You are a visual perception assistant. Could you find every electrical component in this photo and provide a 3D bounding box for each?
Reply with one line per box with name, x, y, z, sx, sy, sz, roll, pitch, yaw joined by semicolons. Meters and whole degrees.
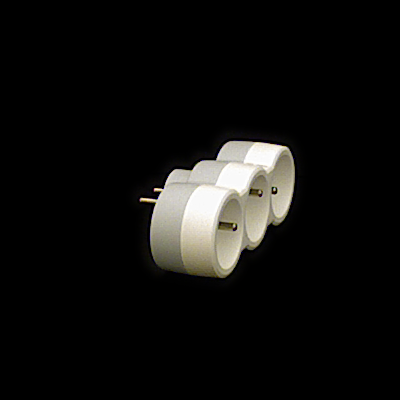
electrical component;0.000;0.000;0.650;0.073;0.053;0.138;9;23;22
